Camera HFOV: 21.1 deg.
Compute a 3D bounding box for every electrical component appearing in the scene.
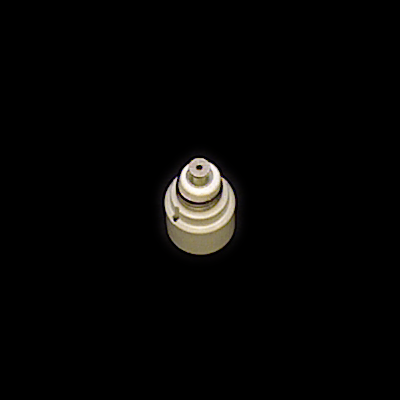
[{"bbox_3d":[0.000,0.000,0.619,0.040,0.040,0.078,0,-26,0],"label":"electrical component"}]
